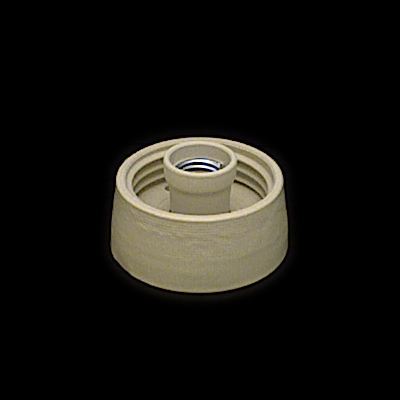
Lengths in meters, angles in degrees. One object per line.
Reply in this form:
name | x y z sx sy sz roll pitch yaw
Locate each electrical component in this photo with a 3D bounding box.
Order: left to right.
electrical component | 0.000 0.000 0.640 0.108 0.061 0.106 1 32 0
